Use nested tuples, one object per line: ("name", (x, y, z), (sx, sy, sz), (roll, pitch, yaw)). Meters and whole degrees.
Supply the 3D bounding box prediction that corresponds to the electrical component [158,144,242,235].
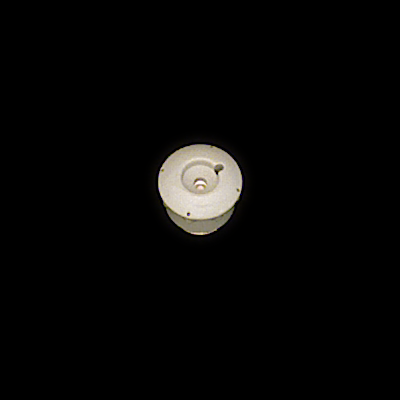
("electrical component", (0.000, 0.000, 0.634), (0.048, 0.048, 0.062), (0, -27, 0))
